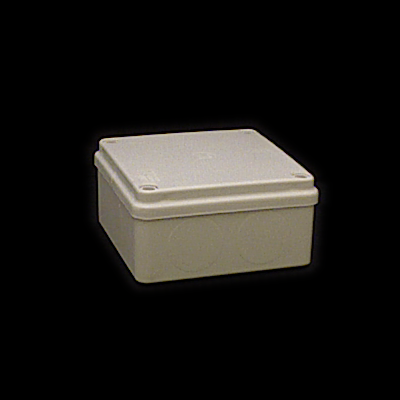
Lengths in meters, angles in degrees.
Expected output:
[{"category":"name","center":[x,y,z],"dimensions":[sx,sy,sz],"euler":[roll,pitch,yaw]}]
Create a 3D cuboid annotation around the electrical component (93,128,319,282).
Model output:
[{"category":"electrical component","center":[0.000,0.000,0.641],"dimensions":[0.109,0.057,0.107],"euler":[-5,21,-17]}]
